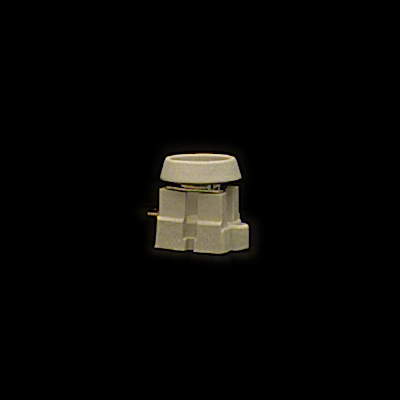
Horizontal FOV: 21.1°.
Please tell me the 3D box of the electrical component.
[{"bbox_3d":[0.000,0.000,0.651,0.066,0.056,0.048,5,10,17],"label":"electrical component"}]
